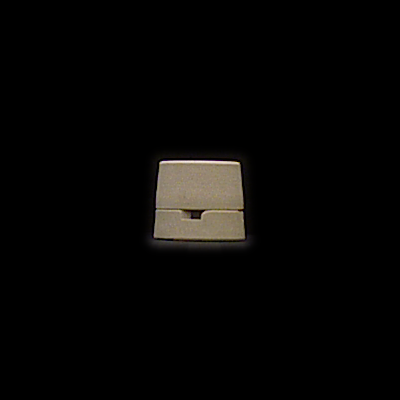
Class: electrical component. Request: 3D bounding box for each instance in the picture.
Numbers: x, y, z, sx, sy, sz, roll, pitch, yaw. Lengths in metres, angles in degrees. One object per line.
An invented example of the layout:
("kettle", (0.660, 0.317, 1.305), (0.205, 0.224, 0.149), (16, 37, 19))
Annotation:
("electrical component", (0.000, 0.000, 0.649), (0.055, 0.047, 0.055), (0, 1, 0))
